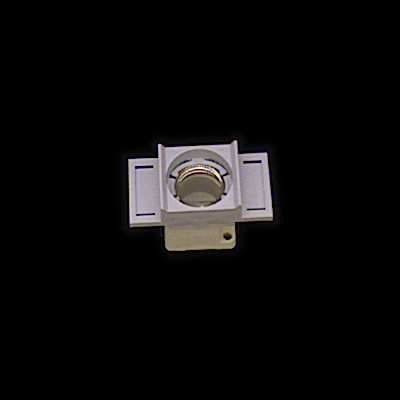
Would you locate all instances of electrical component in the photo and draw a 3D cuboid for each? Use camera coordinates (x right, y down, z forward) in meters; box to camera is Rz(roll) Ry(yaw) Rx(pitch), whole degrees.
[{"bbox_3d":[0.000,0.000,0.625,0.081,0.042,0.063,-2,-28,-1],"label":"electrical component"}]
